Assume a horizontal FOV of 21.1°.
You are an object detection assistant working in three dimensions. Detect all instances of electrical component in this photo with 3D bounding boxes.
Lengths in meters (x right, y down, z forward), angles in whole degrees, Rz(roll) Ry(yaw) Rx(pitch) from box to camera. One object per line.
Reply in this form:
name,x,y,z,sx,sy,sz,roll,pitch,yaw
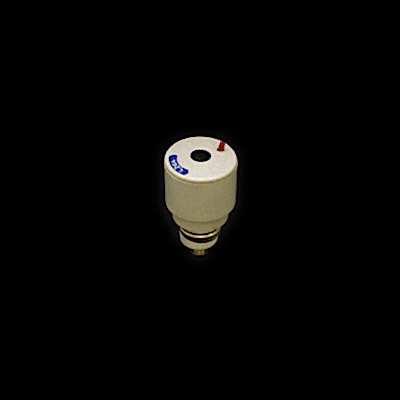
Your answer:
electrical component,0.000,0.000,0.625,0.040,0.079,0.039,1,41,-1
